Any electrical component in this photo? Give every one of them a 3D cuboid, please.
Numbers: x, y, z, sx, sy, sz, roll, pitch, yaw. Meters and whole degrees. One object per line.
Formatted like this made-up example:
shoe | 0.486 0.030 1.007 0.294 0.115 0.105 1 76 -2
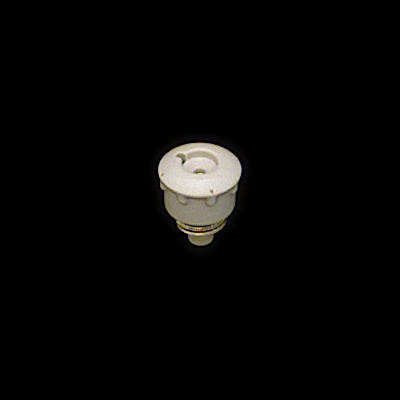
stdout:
electrical component | 0.000 0.000 0.636 0.048 0.062 0.048 1 42 0
